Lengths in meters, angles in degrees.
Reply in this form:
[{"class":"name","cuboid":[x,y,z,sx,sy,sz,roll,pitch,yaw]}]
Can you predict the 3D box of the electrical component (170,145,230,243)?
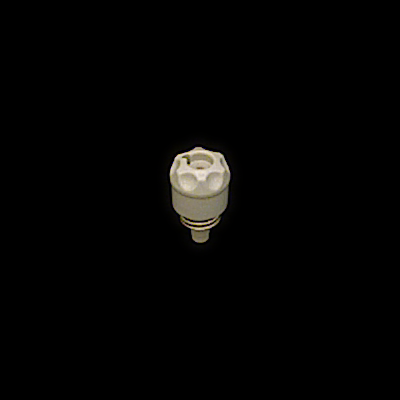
[{"class":"electrical component","cuboid":[0.000,0.000,0.639,0.035,0.062,0.035,0,42,0]}]
